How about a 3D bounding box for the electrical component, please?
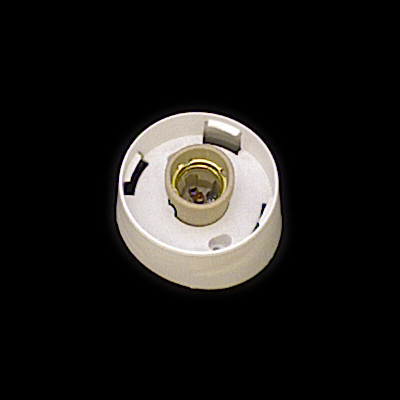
[{"bbox_3d":[0.000,0.000,0.624,0.099,0.099,0.064,0,-27,0],"label":"electrical component"}]
